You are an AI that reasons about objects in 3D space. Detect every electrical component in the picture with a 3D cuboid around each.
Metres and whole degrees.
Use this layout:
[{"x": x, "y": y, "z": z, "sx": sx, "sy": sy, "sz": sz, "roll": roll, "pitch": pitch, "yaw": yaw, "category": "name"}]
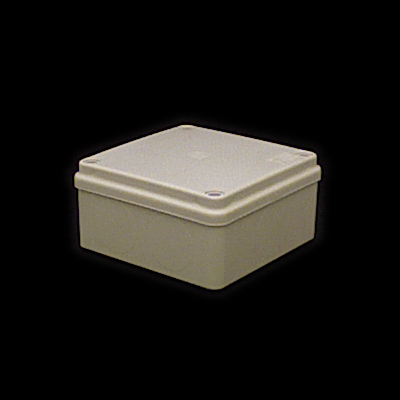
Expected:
[{"x": 0.000, "y": 0.000, "z": 0.639, "sx": 0.108, "sy": 0.057, "sz": 0.108, "roll": 15, "pitch": 25, "yaw": 34, "category": "electrical component"}]
